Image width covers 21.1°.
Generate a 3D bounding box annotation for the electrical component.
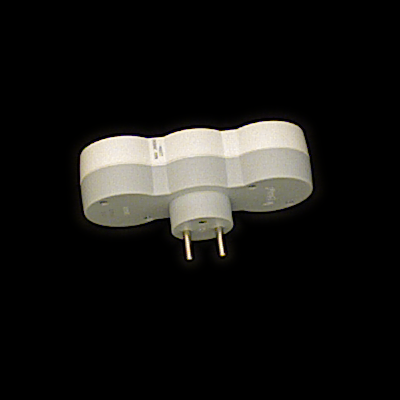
[{"bbox_3d":[0.000,0.000,0.636,0.138,0.074,0.052,-6,-25,-4],"label":"electrical component"}]
